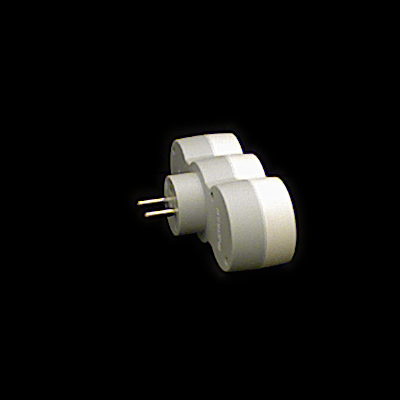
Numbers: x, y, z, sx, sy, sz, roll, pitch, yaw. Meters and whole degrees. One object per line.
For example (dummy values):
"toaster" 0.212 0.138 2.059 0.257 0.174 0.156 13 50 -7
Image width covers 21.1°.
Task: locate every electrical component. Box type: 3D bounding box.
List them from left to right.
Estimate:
"electrical component" 0.000 0.000 0.648 0.074 0.053 0.135 -7 23 -15
